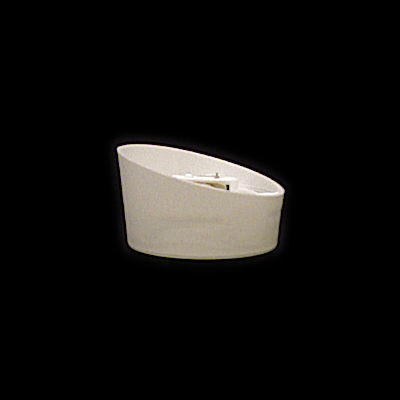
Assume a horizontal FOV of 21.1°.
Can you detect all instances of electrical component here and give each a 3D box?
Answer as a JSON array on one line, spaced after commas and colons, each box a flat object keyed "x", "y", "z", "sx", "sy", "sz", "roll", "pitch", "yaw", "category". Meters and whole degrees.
[{"x": 0.000, "y": 0.000, "z": 0.643, "sx": 0.099, "sy": 0.064, "sz": 0.098, "roll": 0, "pitch": 10, "yaw": 0, "category": "electrical component"}]
